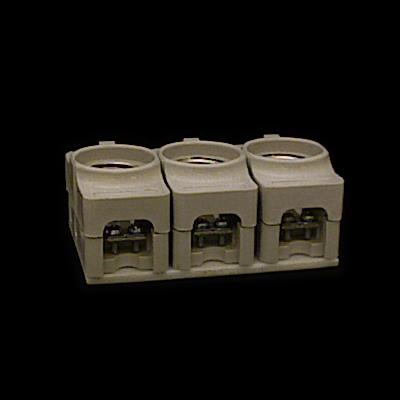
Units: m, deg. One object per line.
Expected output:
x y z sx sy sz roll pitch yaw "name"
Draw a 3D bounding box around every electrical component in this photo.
0.000 0.000 0.646 0.150 0.063 0.088 -3 20 -13 "electrical component"
